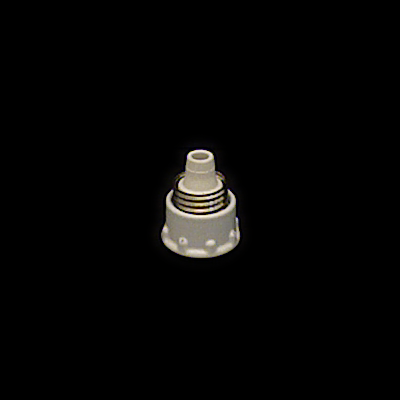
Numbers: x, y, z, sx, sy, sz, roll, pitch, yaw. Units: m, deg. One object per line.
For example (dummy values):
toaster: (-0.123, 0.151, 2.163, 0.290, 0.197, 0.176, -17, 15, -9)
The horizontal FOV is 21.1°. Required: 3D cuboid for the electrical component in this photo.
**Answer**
electrical component: (0.000, 0.000, 0.642, 0.048, 0.063, 0.047, 1, 31, 0)
